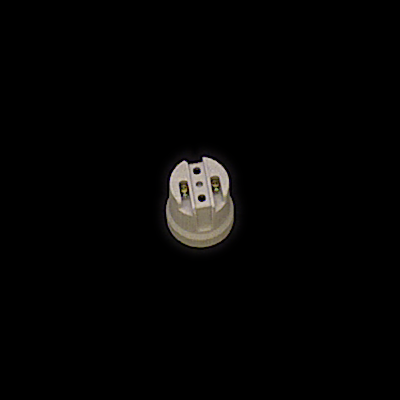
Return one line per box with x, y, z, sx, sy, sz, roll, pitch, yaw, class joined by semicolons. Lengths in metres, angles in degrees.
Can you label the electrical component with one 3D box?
0.000;0.000;0.632;0.040;0.040;0.046;0;-27;0;electrical component
